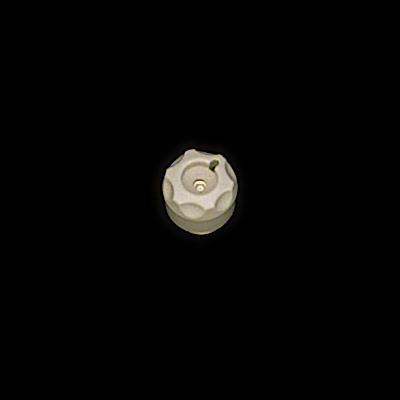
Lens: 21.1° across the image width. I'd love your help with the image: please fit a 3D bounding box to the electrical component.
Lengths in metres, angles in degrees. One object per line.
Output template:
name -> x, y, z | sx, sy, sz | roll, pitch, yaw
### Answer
electrical component -> 0.000, 0.000, 0.633 | 0.043, 0.043, 0.062 | 0, -26, 1
